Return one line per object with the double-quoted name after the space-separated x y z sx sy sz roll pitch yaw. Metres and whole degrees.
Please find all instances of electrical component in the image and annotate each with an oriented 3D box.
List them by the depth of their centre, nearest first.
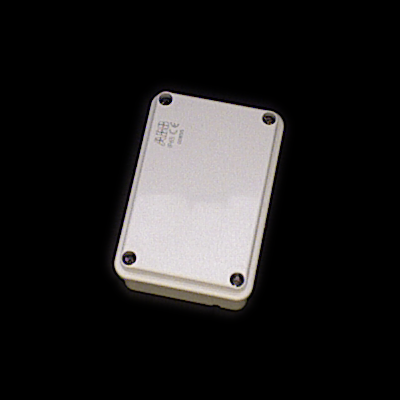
0.000 0.000 0.627 0.078 0.113 0.057 11 -16 3 "electrical component"
